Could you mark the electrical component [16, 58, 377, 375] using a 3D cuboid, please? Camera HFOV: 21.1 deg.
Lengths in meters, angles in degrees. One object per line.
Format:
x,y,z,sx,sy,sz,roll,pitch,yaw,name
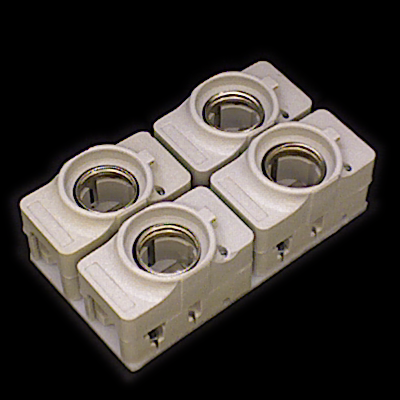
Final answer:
0.000,0.000,0.628,0.186,0.105,0.060,-32,-31,-23,electrical component
